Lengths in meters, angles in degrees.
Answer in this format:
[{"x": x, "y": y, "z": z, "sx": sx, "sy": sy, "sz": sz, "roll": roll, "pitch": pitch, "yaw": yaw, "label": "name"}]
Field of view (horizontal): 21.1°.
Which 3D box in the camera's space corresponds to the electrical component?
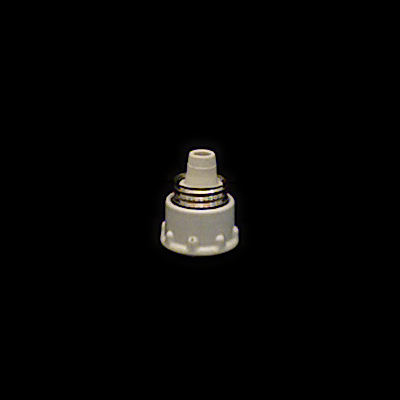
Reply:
[{"x": 0.000, "y": 0.000, "z": 0.647, "sx": 0.048, "sy": 0.063, "sz": 0.047, "roll": 2, "pitch": 21, "yaw": 0, "label": "electrical component"}]
